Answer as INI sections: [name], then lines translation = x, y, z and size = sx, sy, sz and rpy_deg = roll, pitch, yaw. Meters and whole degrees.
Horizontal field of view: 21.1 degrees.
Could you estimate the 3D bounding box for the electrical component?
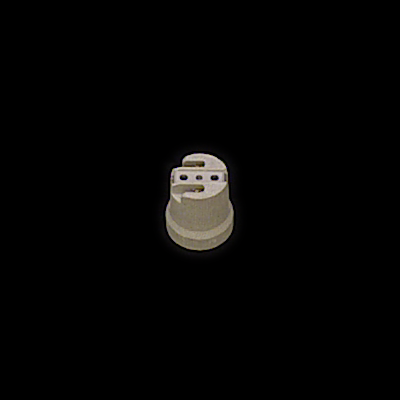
[electrical component]
translation = 0.000, 0.000, 0.634
size = 0.040, 0.040, 0.046
rpy_deg = 0, -38, -1
